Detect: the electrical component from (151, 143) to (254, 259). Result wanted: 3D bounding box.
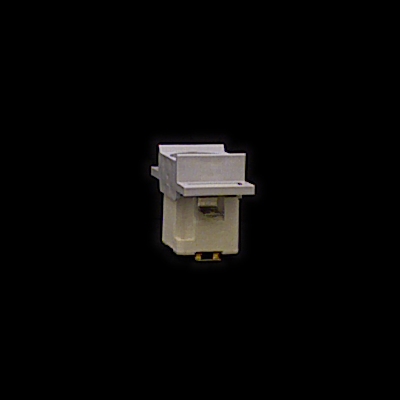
[{"bbox_3d":[0.000,0.000,0.646,0.042,0.064,0.080,-3,12,-15],"label":"electrical component"}]
